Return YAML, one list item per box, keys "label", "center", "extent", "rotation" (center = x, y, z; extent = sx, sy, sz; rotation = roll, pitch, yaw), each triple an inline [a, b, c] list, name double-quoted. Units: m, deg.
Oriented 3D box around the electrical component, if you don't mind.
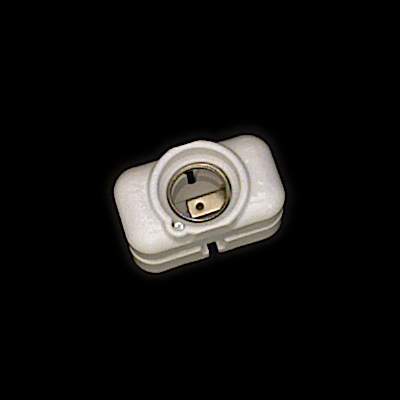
- label: "electrical component"
  center: [0.000, 0.000, 0.633]
  extent: [0.095, 0.054, 0.059]
  rotation: [-18, -16, -5]
